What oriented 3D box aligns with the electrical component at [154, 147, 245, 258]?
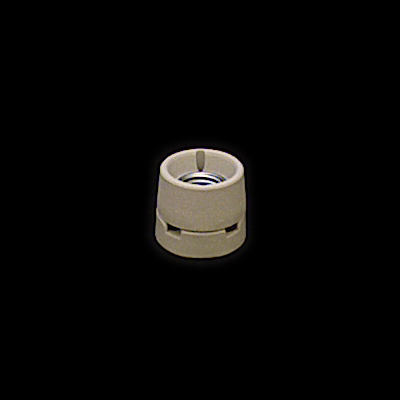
[{"bbox_3d":[0.000,0.000,0.639,0.055,0.047,0.055,1,30,0],"label":"electrical component"}]
